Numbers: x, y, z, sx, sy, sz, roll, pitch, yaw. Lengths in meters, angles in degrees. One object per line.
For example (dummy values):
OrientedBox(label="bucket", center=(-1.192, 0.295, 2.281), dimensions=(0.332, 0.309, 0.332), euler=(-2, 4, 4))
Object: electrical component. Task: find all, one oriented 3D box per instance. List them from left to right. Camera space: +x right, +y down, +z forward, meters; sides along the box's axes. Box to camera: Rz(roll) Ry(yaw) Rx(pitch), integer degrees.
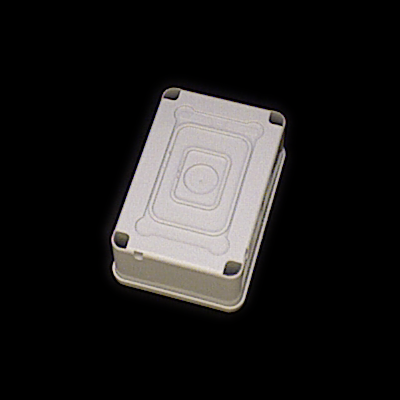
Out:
OrientedBox(label="electrical component", center=(0.000, 0.000, 0.628), dimensions=(0.078, 0.113, 0.057), euler=(14, -27, 7))
